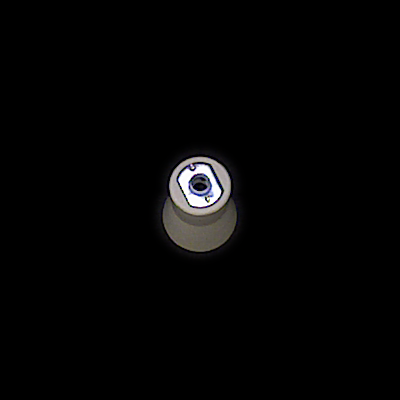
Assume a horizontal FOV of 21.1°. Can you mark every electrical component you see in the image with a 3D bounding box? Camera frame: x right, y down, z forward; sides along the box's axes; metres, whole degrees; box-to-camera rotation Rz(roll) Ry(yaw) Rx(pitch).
[{"bbox_3d":[0.000,0.000,0.625,0.044,0.044,0.065,0,-17,-1],"label":"electrical component"}]
